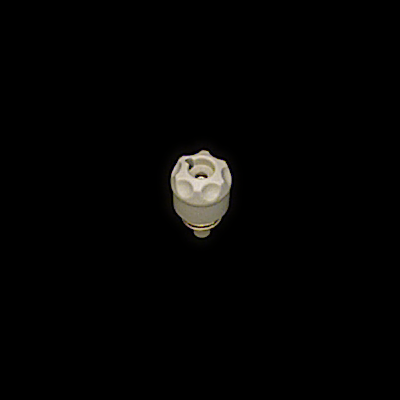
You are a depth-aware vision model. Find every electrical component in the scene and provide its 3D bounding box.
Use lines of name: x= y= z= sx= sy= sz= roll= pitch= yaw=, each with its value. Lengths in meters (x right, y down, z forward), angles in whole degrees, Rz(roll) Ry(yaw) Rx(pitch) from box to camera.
electrical component: x=0.000 y=0.000 z=0.636 sx=0.035 sy=0.035 sz=0.062 roll=0 pitch=-37 yaw=0
